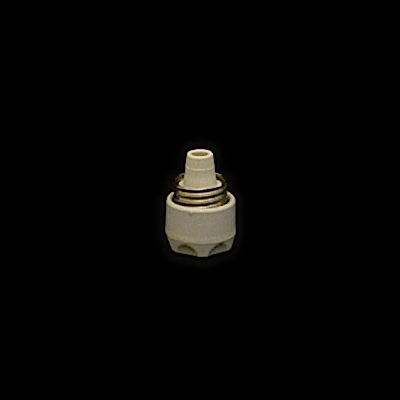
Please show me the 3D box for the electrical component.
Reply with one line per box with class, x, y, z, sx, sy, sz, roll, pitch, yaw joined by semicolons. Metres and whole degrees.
electrical component;0.000;0.000;0.645;0.043;0.063;0.043;0;22;1
